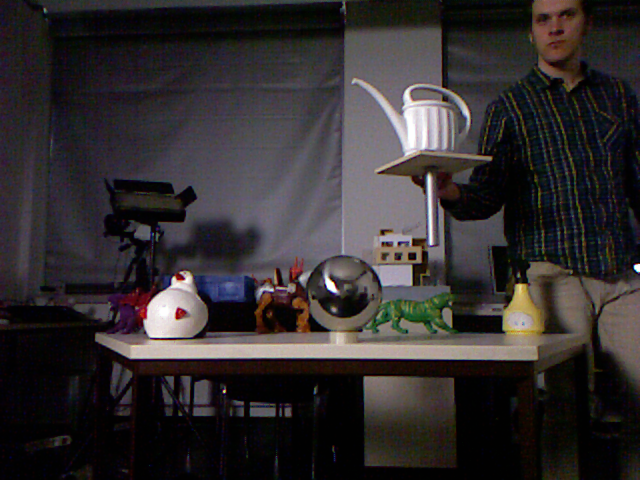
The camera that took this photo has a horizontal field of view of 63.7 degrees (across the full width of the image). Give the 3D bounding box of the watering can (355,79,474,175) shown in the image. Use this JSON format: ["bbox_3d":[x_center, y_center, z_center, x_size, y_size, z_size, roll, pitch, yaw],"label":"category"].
[{"bbox_3d":[0.237,-0.279,1.283,0.348,0.225,0.104,3,-1,-23],"label":"watering can"}]
